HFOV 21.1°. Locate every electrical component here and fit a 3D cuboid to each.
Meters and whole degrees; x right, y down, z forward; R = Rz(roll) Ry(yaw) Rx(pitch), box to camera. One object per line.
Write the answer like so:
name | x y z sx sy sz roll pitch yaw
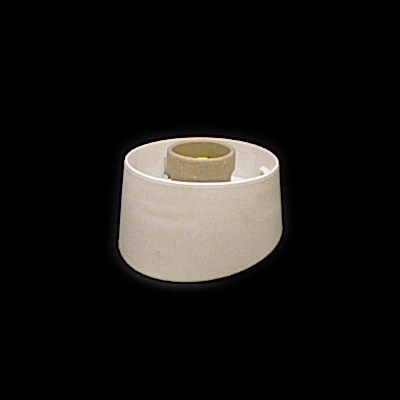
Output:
electrical component | 0.000 0.000 0.639 0.099 0.065 0.097 1 21 0
